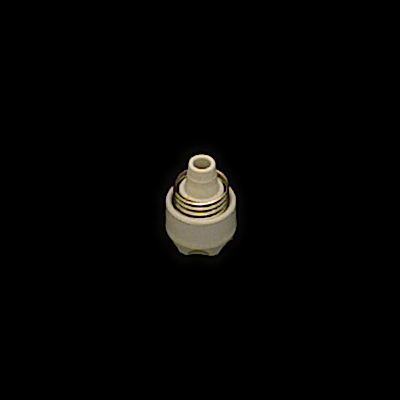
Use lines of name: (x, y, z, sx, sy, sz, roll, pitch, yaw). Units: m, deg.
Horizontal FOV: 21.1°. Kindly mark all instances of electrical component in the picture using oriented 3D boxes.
electrical component: (0.000, 0.000, 0.637, 0.043, 0.062, 0.043, 1, 44, 0)
